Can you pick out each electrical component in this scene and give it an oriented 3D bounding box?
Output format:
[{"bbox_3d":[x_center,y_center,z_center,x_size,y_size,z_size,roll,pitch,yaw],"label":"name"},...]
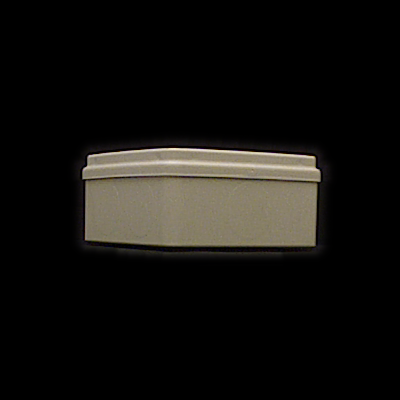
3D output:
[{"bbox_3d":[0.000,0.000,0.650,0.109,0.056,0.108,1,0,-34],"label":"electrical component"}]
